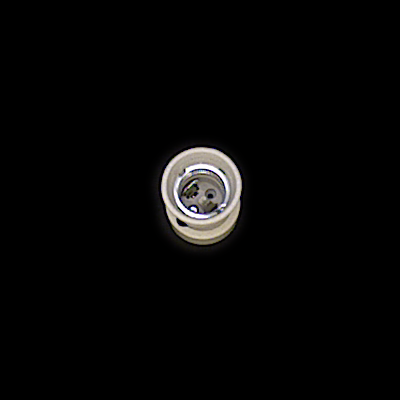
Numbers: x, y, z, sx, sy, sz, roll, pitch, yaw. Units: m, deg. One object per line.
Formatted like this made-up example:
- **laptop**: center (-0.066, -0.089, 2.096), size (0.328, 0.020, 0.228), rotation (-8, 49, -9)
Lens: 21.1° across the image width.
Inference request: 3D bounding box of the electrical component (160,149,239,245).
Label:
- **electrical component**: center (0.000, 0.000, 0.628), size (0.045, 0.045, 0.055), rotation (0, -17, 1)
